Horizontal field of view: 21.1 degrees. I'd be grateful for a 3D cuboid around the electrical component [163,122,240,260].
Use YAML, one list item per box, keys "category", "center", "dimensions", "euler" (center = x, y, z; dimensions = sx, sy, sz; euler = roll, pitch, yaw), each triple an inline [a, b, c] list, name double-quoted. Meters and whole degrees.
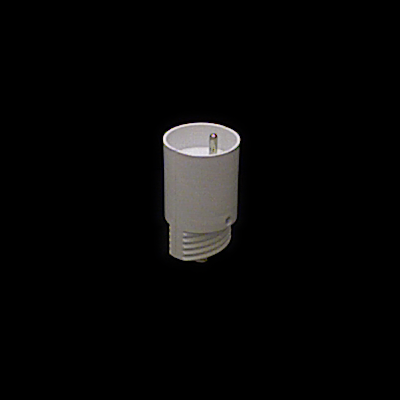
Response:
- category: "electrical component"
  center: [0.000, 0.000, 0.630]
  dimensions: [0.043, 0.082, 0.042]
  euler: [2, 31, -1]
